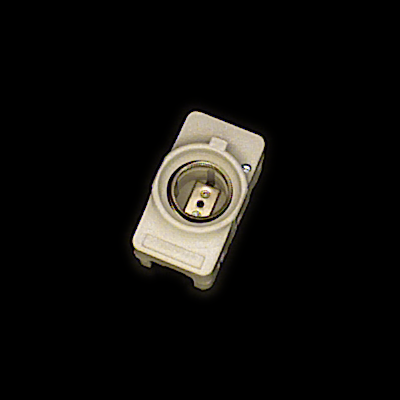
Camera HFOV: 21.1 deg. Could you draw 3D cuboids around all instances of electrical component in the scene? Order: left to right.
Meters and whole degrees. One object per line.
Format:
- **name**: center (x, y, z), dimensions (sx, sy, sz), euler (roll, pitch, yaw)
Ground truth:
- **electrical component**: center (0.000, 0.000, 0.636), dimensions (0.050, 0.090, 0.055), euler (21, -15, 6)
